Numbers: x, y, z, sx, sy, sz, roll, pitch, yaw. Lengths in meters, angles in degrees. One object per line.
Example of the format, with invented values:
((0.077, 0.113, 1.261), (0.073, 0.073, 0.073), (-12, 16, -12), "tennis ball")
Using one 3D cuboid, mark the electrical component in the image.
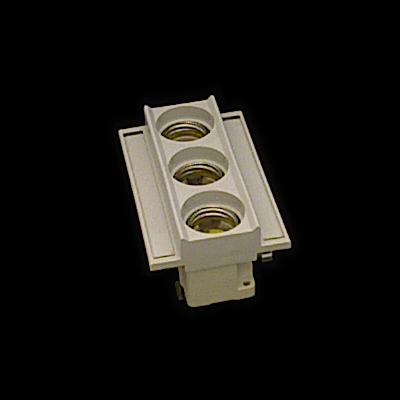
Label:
((0.000, 0.000, 0.641), (0.079, 0.063, 0.120), (-9, 43, -8), "electrical component")
